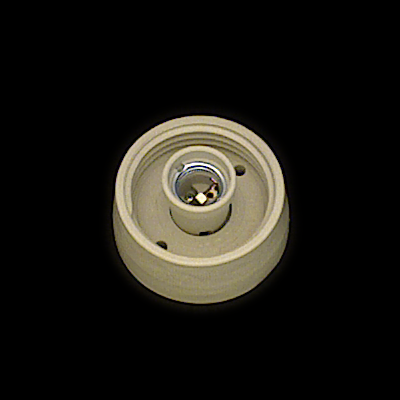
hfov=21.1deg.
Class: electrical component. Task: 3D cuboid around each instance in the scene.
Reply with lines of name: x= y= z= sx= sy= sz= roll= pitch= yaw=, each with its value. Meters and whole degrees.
electrical component: x=0.000 y=0.000 z=0.633 sx=0.108 sy=0.108 sz=0.060 roll=0 pitch=-26 yaw=0
